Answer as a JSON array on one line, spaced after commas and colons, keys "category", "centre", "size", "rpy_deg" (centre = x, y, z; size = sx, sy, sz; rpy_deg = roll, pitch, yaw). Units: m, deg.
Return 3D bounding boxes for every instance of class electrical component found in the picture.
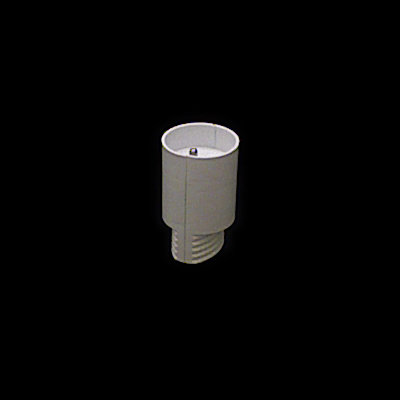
[{"category": "electrical component", "centre": [0.000, 0.000, 0.626], "size": [0.043, 0.082, 0.042], "rpy_deg": [0, 32, 0]}]
